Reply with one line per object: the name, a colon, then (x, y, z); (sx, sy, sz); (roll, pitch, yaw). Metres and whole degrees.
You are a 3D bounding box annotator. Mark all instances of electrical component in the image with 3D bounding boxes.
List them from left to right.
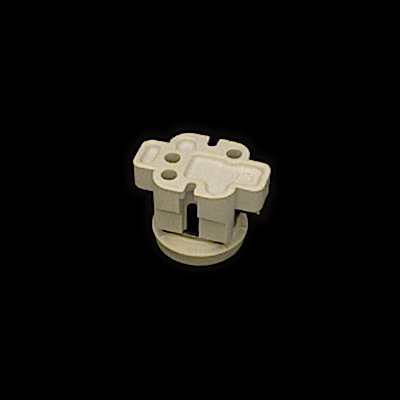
electrical component: (0.000, 0.000, 0.640); (0.078, 0.057, 0.057); (12, 43, 10)
